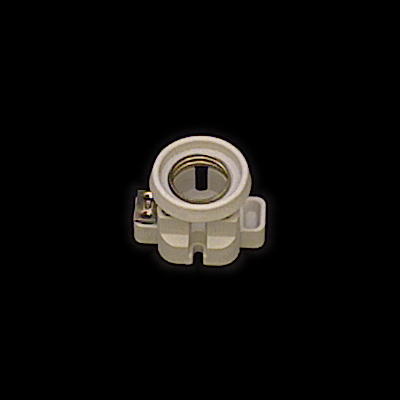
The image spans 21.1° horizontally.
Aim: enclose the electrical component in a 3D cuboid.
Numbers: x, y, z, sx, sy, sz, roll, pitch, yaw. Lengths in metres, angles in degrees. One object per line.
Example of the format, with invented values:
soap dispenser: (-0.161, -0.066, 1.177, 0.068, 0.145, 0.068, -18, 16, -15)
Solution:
electrical component: (0.000, 0.000, 0.629, 0.078, 0.057, 0.057, 2, -37, 1)
